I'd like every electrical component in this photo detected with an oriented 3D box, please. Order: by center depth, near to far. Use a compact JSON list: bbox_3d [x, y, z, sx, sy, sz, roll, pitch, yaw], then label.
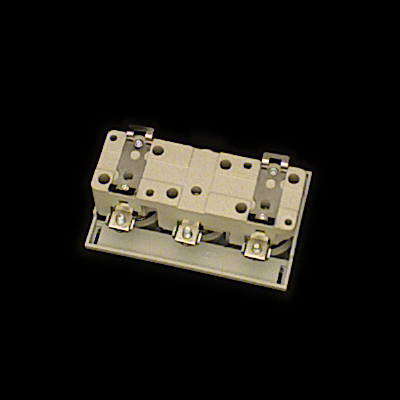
[{"bbox_3d":[0.000,0.000,0.635,0.121,0.079,0.063,12,-27,5],"label":"electrical component"}]
